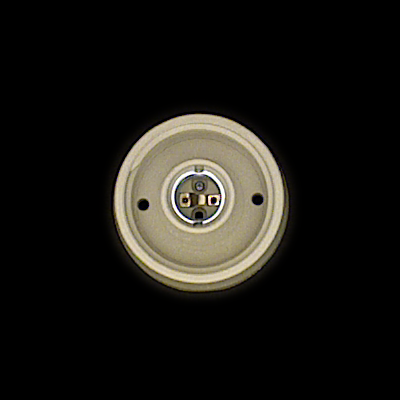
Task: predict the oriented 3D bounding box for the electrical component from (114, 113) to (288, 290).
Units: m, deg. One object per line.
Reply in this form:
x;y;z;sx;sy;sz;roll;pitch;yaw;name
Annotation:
0.000;0.000;0.634;0.108;0.108;0.060;0;-6;0;electrical component
